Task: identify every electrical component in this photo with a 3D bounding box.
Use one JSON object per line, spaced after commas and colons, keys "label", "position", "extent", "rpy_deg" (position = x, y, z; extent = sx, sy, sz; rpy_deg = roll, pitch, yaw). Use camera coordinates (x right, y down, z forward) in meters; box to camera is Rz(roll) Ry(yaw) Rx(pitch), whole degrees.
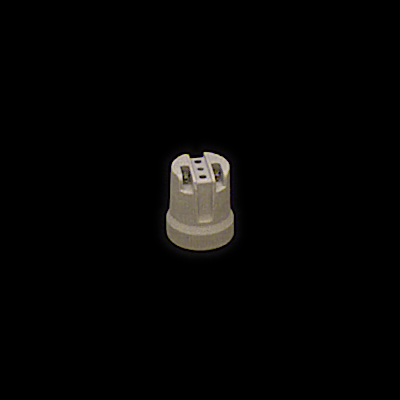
{"label": "electrical component", "position": [0.000, 0.000, 0.637], "extent": [0.040, 0.046, 0.040], "rpy_deg": [0, 32, 0]}
